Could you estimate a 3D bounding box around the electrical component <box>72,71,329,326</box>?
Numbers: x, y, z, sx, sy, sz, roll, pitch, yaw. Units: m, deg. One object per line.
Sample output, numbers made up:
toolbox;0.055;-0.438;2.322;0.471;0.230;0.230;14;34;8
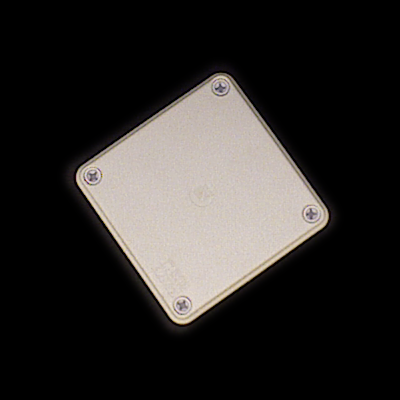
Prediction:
electrical component;0.000;0.000;0.631;0.109;0.109;0.056;-35;-6;-4
